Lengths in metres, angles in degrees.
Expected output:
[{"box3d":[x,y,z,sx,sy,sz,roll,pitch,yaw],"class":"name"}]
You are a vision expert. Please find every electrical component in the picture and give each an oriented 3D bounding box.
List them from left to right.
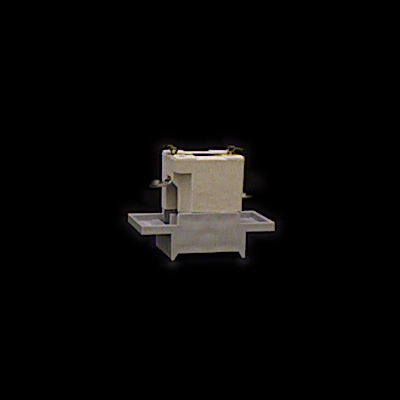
[{"box3d":[0.000,0.000,0.645,0.081,0.064,0.042,-2,11,-15],"class":"electrical component"}]
